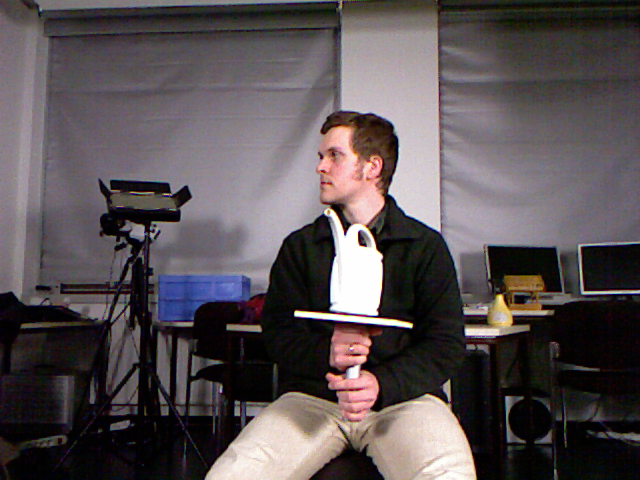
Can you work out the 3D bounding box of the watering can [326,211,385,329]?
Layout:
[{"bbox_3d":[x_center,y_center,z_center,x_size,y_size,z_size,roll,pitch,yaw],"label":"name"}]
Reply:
[{"bbox_3d":[0.064,0.068,1.048,0.104,0.226,0.345,4,-9,22],"label":"watering can"}]
